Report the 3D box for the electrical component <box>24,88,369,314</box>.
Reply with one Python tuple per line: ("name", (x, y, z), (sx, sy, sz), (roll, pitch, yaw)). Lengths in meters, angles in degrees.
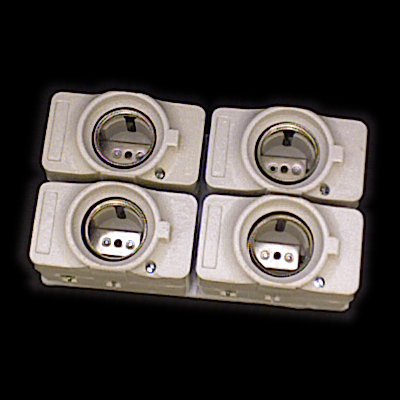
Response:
("electrical component", (0.000, 0.000, 0.626), (0.186, 0.106, 0.060), (5, -17, 1))
